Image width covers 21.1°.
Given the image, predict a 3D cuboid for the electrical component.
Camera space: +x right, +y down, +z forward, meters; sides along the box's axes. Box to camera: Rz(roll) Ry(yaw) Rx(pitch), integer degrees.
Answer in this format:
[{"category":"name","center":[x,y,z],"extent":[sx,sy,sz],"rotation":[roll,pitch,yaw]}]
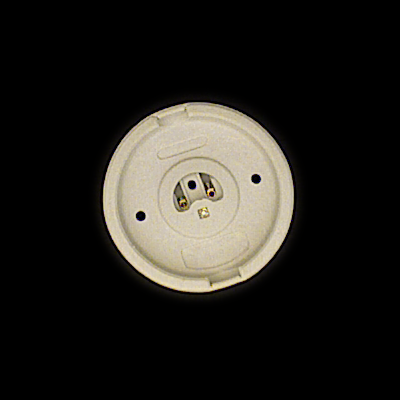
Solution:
[{"category":"electrical component","center":[0.000,0.000,0.634],"extent":[0.108,0.108,0.060],"rotation":[0,-6,0]}]
